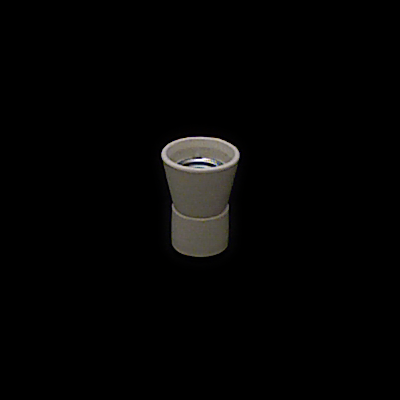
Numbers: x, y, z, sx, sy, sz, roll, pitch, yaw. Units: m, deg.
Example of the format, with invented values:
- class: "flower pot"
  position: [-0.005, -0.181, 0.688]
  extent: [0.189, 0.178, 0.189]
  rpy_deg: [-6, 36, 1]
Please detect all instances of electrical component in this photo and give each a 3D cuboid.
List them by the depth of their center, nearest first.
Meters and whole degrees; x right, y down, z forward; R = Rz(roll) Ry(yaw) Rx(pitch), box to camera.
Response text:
- class: "electrical component"
  position: [0.000, 0.000, 0.635]
  extent: [0.044, 0.066, 0.044]
  rpy_deg: [0, 30, 0]
